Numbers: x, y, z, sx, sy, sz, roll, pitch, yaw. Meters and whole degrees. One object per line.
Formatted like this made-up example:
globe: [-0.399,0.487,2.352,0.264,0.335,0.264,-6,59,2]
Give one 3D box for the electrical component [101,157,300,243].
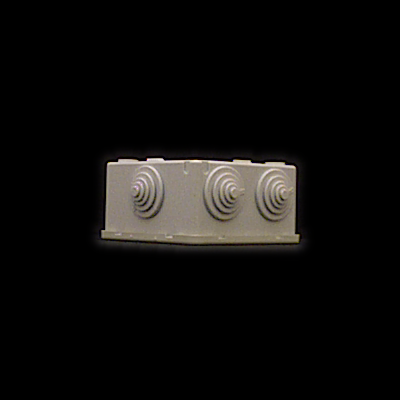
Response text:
electrical component: [0.000,0.000,0.648,0.100,0.048,0.099,1,0,-42]
